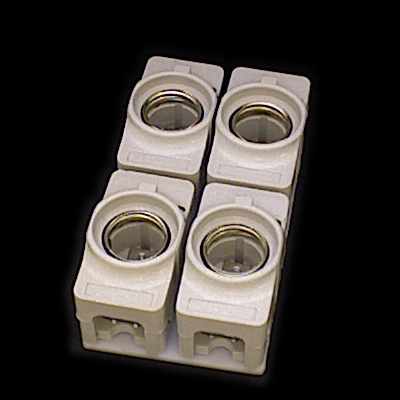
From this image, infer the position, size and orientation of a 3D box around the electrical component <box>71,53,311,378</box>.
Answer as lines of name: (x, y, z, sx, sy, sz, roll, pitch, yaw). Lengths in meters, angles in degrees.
electrical component: (0.000, 0.000, 0.627, 0.105, 0.186, 0.060, 9, -37, 6)
